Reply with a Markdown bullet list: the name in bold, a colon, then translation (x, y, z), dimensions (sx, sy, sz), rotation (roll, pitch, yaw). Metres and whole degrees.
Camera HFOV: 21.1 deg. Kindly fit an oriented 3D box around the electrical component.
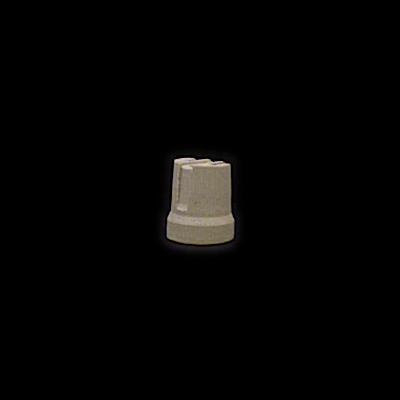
- **electrical component**: translation (0.000, 0.000, 0.646), dimensions (0.040, 0.046, 0.040), rotation (1, 12, 0)
